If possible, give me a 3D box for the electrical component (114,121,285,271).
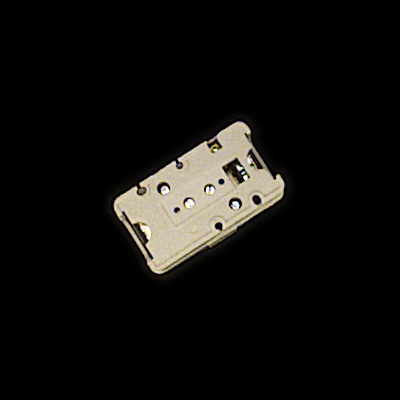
[{"bbox_3d":[0.000,0.000,0.637,0.090,0.050,0.055,-33,-6,-4],"label":"electrical component"}]
